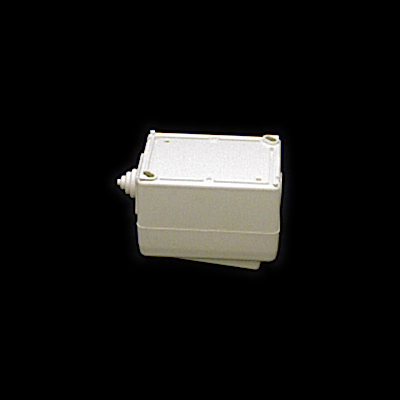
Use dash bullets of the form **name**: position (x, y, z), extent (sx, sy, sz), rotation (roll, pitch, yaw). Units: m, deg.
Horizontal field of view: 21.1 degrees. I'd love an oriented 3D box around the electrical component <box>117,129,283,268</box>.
- **electrical component**: position (0.000, 0.000, 0.633), extent (0.096, 0.061, 0.061), rotation (3, 32, 2)
